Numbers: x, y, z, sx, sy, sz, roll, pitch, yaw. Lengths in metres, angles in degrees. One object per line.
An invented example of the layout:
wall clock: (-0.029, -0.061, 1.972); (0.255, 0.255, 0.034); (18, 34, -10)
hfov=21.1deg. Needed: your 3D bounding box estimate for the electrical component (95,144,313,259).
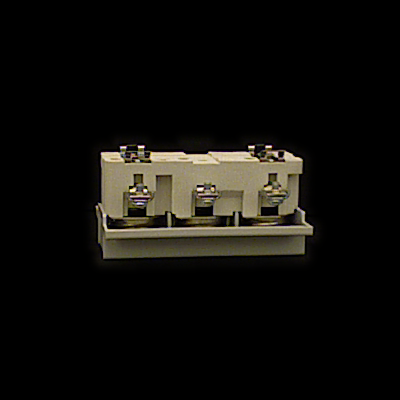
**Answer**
electrical component: (0.000, 0.000, 0.654); (0.122, 0.063, 0.078); (0, 11, -10)
